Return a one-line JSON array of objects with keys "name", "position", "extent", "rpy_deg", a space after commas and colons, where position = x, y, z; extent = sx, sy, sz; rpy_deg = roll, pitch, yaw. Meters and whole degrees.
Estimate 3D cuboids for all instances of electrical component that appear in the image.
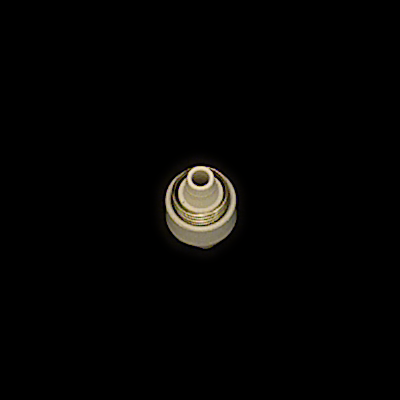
[{"name": "electrical component", "position": [0.000, 0.000, 0.633], "extent": [0.043, 0.043, 0.062], "rpy_deg": [0, -25, 1]}]
